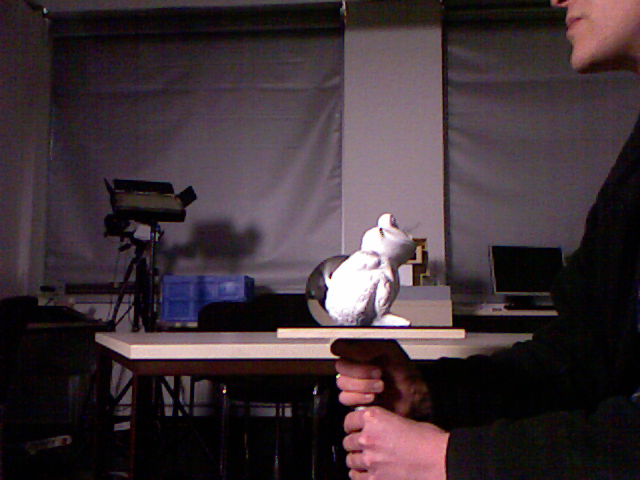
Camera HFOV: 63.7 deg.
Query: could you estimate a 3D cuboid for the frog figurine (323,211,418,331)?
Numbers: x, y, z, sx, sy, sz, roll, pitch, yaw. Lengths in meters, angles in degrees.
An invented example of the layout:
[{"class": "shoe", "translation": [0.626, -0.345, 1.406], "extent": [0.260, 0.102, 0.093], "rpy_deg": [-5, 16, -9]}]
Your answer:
[{"class": "frog figurine", "translation": [0.065, 0.039, 0.664], "extent": [0.123, 0.161, 0.136], "rpy_deg": [0, -8, 8]}]
